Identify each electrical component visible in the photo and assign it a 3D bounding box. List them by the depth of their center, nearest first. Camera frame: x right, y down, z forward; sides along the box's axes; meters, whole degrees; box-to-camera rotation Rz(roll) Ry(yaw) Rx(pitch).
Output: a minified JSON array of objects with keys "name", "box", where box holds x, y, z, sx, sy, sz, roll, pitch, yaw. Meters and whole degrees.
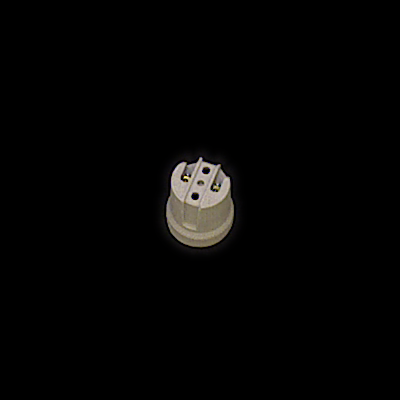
[{"name":"electrical component","box":[0.000,0.000,0.633,0.040,0.040,0.046,0,-27,-1]}]
